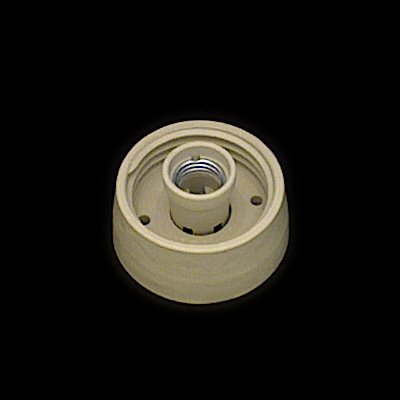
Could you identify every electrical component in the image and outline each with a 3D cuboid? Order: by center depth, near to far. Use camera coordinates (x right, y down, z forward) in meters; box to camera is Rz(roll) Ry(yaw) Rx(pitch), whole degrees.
[{"bbox_3d":[0.000,0.000,0.636,0.108,0.107,0.060,0,-37,0],"label":"electrical component"}]
